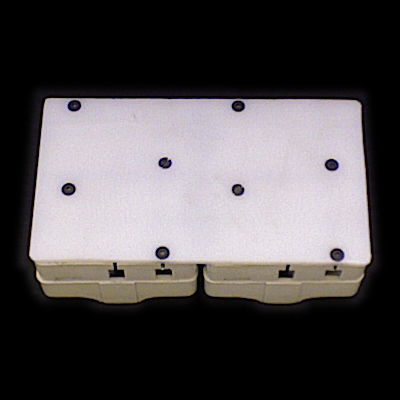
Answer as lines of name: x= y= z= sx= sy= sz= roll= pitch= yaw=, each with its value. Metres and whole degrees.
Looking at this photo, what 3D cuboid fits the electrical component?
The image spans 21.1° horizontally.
electrical component: x=0.000 y=0.000 z=0.625 sx=0.186 sy=0.105 sz=0.060 roll=1 pitch=-27 yaw=0
